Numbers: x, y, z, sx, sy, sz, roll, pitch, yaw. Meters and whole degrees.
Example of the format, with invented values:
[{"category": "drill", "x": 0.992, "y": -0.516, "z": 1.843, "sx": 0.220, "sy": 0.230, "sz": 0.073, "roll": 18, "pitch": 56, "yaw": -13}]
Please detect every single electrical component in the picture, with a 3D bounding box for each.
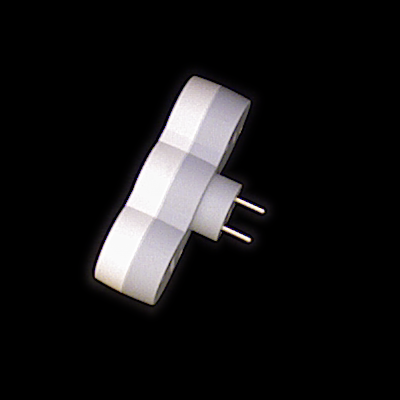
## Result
[{"category": "electrical component", "x": 0.000, "y": 0.000, "z": 0.631, "sx": 0.074, "sy": 0.138, "sz": 0.052, "roll": 24, "pitch": -16, "yaw": 5}]
